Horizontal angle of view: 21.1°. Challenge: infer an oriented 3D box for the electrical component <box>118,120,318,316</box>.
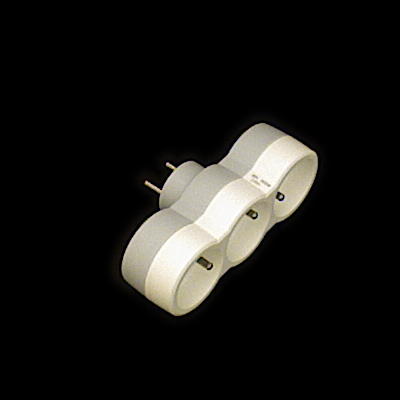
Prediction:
[{"bbox_3d":[0.000,0.000,0.640,0.073,0.052,0.139,34,60,24],"label":"electrical component"}]
